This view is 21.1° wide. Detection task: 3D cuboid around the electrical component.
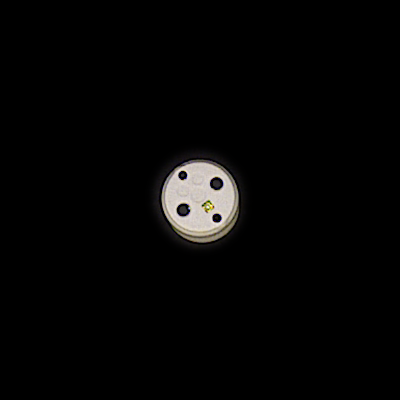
[{"bbox_3d":[0.000,0.000,0.629,0.045,0.045,0.055,0,-6,1],"label":"electrical component"}]
